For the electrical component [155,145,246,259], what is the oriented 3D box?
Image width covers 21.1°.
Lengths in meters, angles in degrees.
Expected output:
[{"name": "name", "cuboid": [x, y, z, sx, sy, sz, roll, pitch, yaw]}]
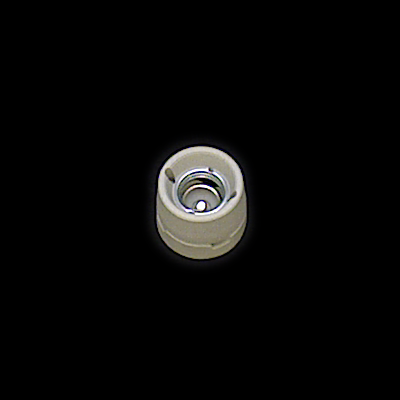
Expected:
[{"name": "electrical component", "cuboid": [0.000, 0.000, 0.633, 0.055, 0.055, 0.047, 0, -28, 1]}]
